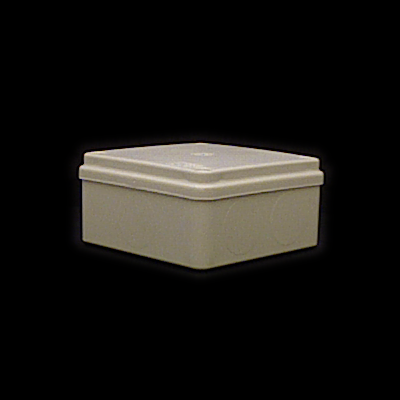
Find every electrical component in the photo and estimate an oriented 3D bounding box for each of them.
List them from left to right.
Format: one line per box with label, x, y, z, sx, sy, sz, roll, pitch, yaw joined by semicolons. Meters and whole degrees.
electrical component;0.000;0.000;0.647;0.108;0.056;0.109;11;13;43
